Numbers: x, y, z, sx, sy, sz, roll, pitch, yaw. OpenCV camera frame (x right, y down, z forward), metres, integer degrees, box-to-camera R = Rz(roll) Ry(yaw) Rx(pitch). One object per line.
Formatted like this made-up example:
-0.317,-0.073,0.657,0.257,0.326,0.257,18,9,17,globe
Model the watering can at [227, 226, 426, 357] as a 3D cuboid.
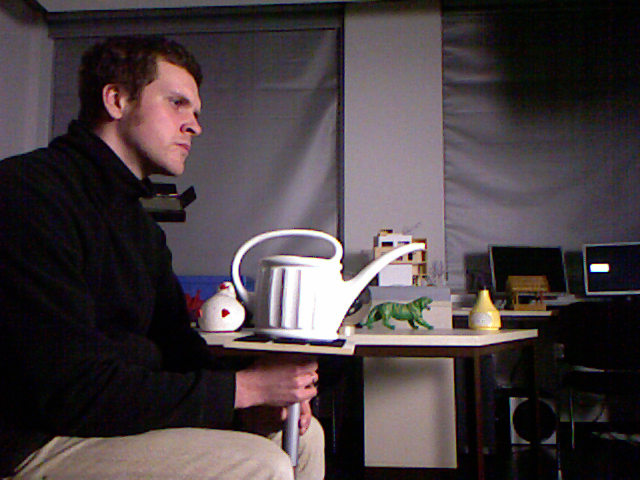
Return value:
0.006,0.090,0.893,0.348,0.225,0.104,2,-3,7,watering can
